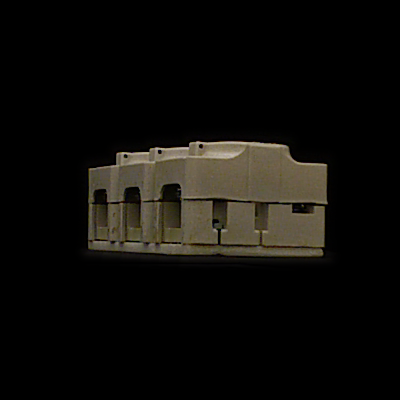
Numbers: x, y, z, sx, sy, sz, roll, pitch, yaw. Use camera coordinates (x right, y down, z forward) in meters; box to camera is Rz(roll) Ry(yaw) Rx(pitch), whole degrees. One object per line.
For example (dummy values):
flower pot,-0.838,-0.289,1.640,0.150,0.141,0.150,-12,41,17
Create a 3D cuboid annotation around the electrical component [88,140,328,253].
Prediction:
electrical component,0.000,0.000,0.655,0.090,0.062,0.150,1,-1,-28
